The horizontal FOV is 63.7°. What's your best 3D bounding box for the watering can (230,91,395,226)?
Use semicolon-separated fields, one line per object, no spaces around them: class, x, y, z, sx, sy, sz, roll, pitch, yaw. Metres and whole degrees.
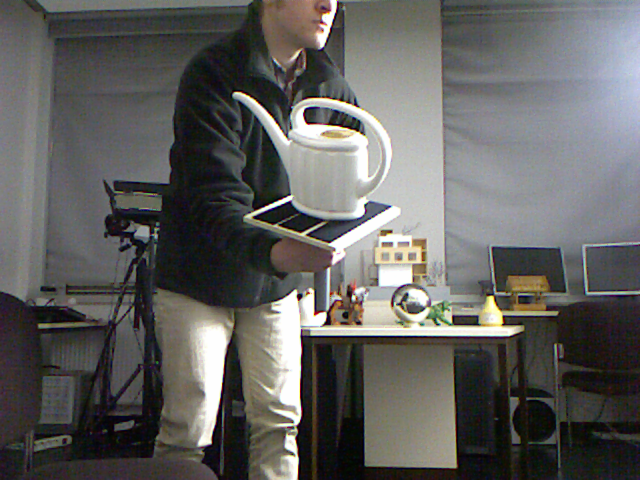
watering can;-0.023;-0.149;0.915;0.350;0.220;0.105;20;33;32
